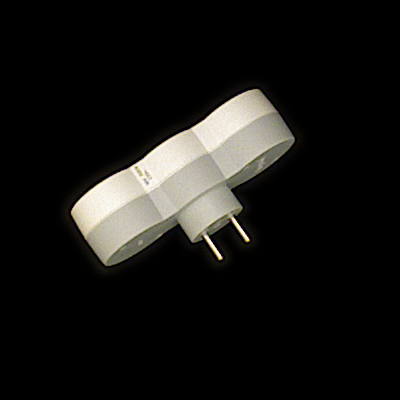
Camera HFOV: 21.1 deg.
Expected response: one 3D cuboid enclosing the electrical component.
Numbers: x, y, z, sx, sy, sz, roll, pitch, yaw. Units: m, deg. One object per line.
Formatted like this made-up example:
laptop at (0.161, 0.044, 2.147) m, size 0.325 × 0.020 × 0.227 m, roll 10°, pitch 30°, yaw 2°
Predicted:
electrical component at (0.000, 0.000, 0.637) m, size 0.139 × 0.074 × 0.052 m, roll -33°, pitch -12°, yaw -9°
